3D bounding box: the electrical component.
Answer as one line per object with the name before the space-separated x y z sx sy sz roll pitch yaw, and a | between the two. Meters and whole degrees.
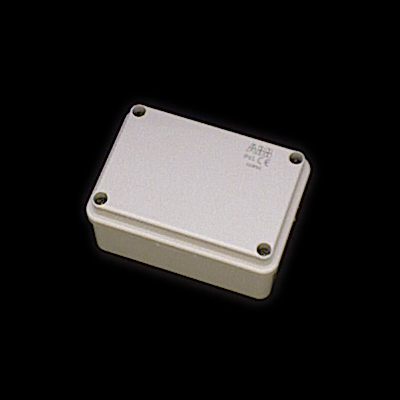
electrical component | 0.000 0.000 0.628 0.113 0.078 0.057 17 -26 8
